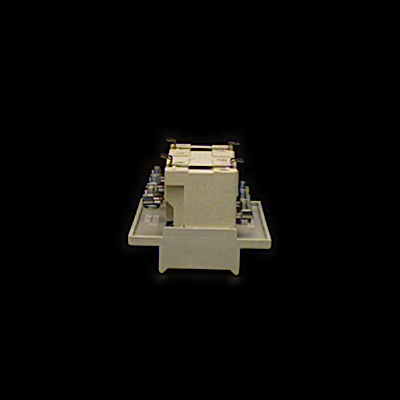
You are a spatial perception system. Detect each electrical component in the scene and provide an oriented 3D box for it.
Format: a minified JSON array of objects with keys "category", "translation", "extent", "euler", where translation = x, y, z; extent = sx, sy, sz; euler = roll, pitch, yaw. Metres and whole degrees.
[{"category":"electrical component","translation":[0.000,0.000,0.652],"extent":[0.079,0.063,0.120],"euler":[2,11,0]}]
